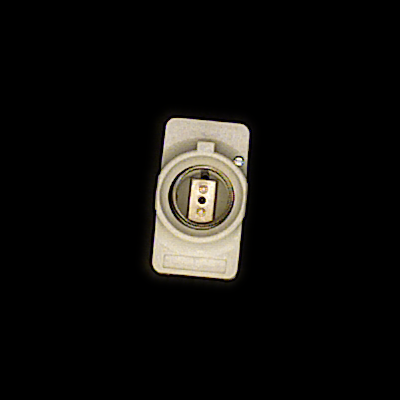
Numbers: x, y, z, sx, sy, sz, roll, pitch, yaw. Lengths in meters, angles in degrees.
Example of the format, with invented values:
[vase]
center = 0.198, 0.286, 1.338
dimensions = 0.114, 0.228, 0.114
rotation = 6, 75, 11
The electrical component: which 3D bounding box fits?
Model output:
[electrical component]
center = 0.000, 0.000, 0.637
dimensions = 0.050, 0.090, 0.055
rotation = 5, -6, 1
